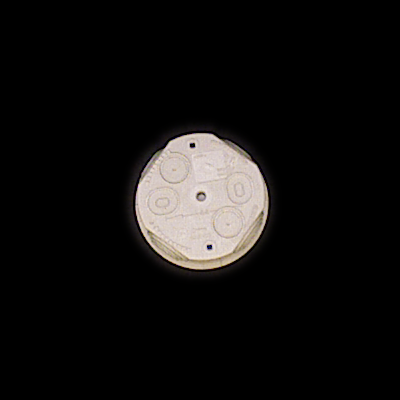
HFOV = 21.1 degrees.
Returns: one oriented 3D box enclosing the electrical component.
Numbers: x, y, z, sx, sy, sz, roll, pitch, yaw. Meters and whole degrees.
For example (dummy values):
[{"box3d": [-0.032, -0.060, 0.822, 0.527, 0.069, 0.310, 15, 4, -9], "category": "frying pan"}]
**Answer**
[{"box3d": [0.000, 0.000, 0.634, 0.080, 0.080, 0.050, 0, -7, 1], "category": "electrical component"}]
